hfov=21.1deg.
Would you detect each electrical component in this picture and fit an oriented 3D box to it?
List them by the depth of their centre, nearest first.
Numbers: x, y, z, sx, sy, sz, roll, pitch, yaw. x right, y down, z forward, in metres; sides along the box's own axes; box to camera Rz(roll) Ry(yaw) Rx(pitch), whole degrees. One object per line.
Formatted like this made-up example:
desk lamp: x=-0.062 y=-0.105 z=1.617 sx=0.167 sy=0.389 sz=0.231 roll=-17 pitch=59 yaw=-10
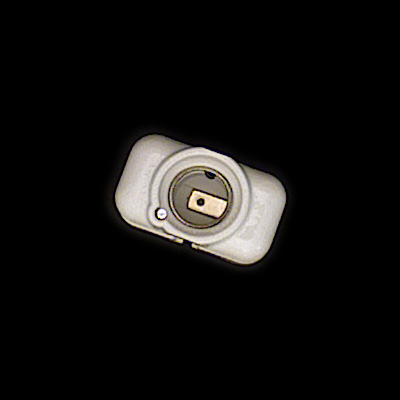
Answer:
electrical component: x=0.000 y=0.000 z=0.635 sx=0.095 sy=0.054 sz=0.059 roll=19 pitch=-5 yaw=3
